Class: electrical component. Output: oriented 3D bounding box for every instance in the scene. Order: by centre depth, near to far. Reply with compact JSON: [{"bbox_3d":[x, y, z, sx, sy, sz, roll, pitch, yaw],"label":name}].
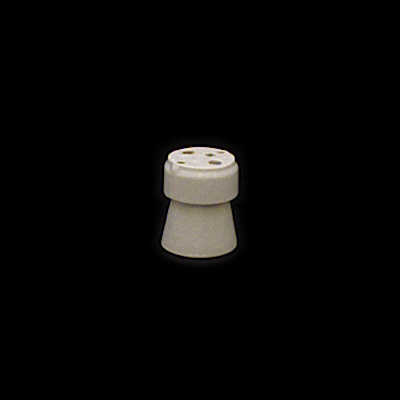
[{"bbox_3d":[0.000,0.000,0.639,0.045,0.056,0.044,1,22,0],"label":"electrical component"}]
